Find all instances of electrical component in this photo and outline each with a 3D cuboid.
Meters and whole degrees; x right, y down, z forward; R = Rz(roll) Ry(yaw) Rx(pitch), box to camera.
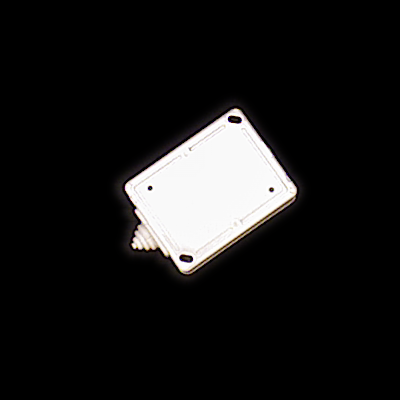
[{"bbox_3d":[0.000,0.000,0.629,0.096,0.062,0.061,-35,-6,-3],"label":"electrical component"}]
